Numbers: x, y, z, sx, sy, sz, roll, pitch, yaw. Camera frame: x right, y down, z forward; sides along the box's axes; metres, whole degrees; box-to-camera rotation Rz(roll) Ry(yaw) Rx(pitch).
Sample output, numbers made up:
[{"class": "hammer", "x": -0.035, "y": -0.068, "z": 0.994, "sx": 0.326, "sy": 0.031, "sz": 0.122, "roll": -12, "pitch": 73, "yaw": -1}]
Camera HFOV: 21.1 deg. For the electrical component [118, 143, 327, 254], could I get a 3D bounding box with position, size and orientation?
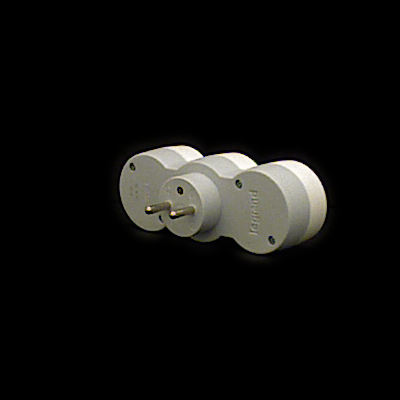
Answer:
[{"class": "electrical component", "x": 0.000, "y": 0.000, "z": 0.650, "sx": 0.136, "sy": 0.052, "sz": 0.074, "roll": 11, "pitch": 16, "yaw": 39}]
